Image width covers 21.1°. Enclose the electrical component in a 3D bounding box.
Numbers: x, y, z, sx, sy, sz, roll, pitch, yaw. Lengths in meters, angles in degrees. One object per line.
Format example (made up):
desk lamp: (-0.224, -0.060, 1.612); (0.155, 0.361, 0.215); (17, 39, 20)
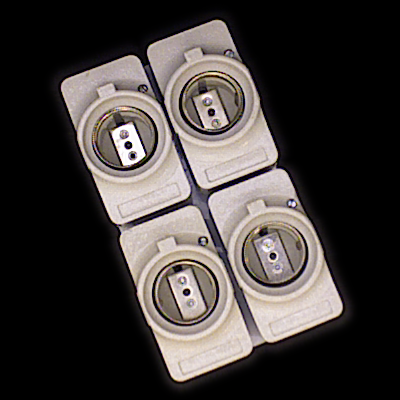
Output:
electrical component: (0.000, 0.000, 0.626); (0.106, 0.187, 0.060); (-22, -7, -2)
